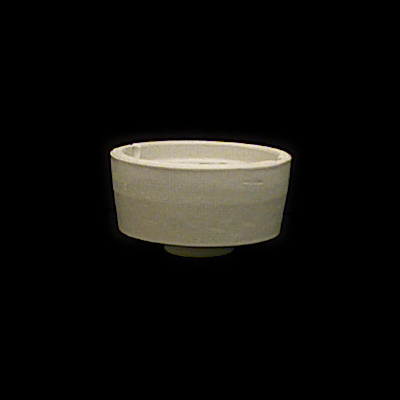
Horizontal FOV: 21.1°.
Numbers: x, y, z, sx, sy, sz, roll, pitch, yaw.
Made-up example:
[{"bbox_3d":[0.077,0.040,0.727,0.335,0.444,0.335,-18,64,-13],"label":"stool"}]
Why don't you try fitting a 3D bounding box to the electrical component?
[{"bbox_3d":[0.000,0.000,0.649,0.108,0.061,0.107,2,11,0],"label":"electrical component"}]
